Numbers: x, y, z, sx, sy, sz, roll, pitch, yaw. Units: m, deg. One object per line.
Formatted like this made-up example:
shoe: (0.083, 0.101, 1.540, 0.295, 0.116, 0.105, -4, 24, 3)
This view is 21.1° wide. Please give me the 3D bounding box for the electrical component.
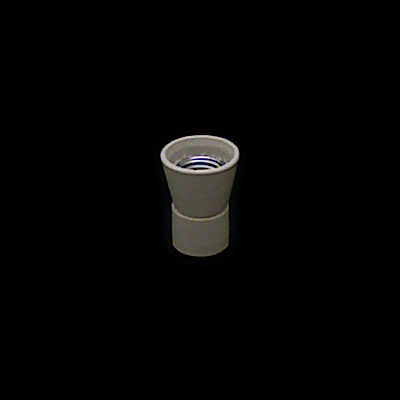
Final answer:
electrical component: (0.000, 0.000, 0.632, 0.044, 0.066, 0.044, 0, 32, 0)
